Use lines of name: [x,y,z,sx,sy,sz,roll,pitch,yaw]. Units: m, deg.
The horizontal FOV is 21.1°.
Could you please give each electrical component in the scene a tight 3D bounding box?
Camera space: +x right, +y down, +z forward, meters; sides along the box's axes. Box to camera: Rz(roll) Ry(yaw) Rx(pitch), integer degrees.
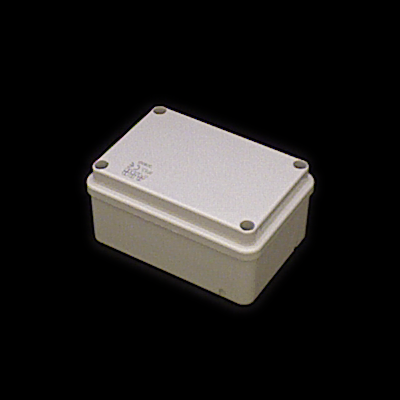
electrical component: [0.000,0.000,0.629,0.112,0.057,0.078,23,46,22]
